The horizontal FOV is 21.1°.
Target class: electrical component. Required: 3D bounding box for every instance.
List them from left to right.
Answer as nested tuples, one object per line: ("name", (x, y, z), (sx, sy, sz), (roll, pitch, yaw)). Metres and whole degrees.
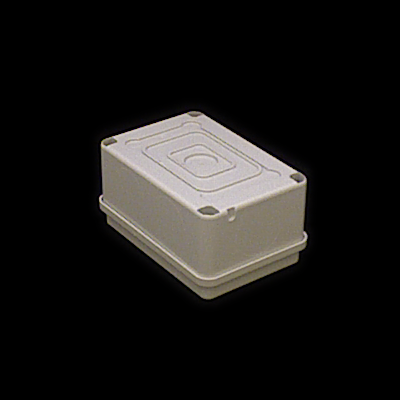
("electrical component", (0.000, 0.000, 0.635), (0.078, 0.058, 0.112), (-21, 37, -31))
